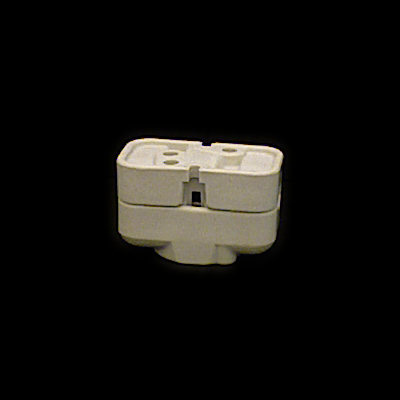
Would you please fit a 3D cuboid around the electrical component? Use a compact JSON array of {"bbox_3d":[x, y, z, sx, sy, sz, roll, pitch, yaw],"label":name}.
[{"bbox_3d":[0.000,0.000,0.644,0.095,0.060,0.053,4,22,6],"label":"electrical component"}]
